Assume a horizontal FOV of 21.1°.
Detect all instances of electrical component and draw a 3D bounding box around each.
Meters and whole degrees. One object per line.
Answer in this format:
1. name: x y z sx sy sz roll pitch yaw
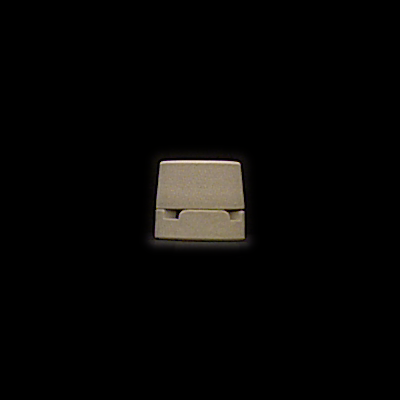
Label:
1. electrical component: 0.000 0.000 0.650 0.055 0.047 0.055 0 0 0
